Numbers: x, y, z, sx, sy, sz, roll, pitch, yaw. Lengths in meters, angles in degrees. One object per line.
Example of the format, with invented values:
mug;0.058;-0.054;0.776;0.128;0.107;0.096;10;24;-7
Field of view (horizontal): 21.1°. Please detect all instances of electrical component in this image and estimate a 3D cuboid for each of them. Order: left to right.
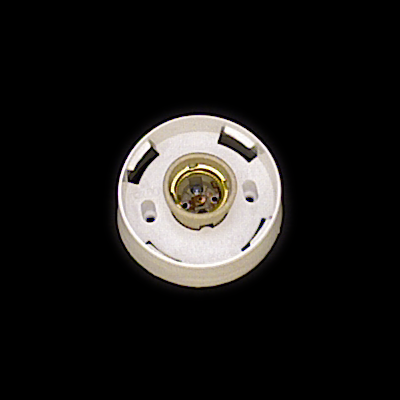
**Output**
electrical component;0.000;0.000;0.625;0.099;0.099;0.064;0;-17;0
